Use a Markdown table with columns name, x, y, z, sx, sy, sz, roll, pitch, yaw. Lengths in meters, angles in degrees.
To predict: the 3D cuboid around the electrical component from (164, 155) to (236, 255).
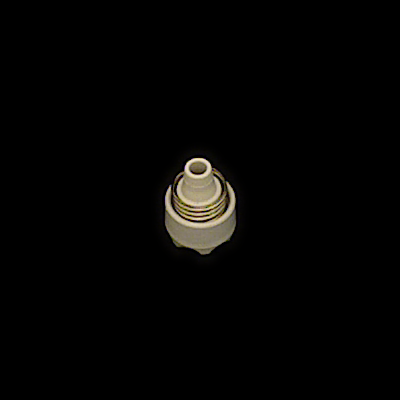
| name | x | y | z | sx | sy | sz | roll | pitch | yaw |
| --- | --- | --- | --- | --- | --- | --- | --- | --- | --- |
| electrical component | 0.000 | 0.000 | 0.635 | 0.043 | 0.043 | 0.062 | 0 | -38 | 1 |
